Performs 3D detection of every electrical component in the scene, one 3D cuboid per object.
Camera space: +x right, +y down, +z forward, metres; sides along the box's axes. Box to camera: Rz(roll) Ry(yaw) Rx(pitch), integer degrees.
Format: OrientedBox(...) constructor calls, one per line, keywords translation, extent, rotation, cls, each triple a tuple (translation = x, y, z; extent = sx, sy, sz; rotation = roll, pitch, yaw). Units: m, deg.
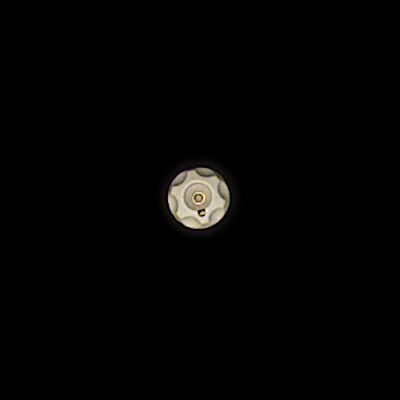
OrientedBox(translation=(0.000, 0.000, 0.634), extent=(0.035, 0.035, 0.061), rotation=(0, -5, 1), cls="electrical component")
